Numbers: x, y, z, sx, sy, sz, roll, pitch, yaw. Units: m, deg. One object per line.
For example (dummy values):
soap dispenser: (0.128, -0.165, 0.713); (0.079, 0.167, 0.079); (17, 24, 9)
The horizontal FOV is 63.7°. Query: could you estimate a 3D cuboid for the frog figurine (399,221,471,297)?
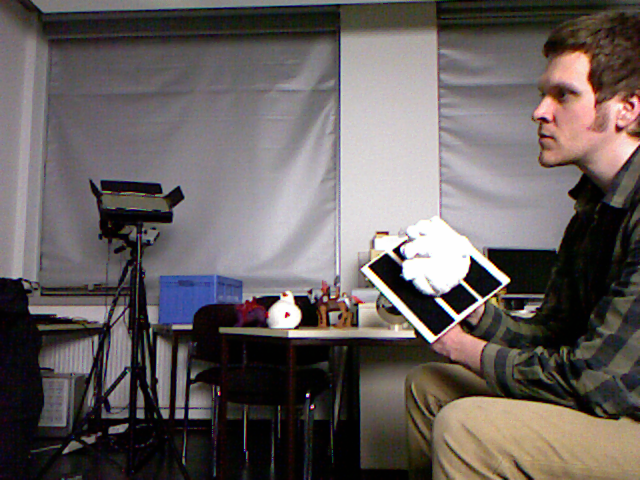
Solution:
frog figurine: (0.215, 0.029, 0.957); (0.138, 0.126, 0.156); (-14, -31, -3)
